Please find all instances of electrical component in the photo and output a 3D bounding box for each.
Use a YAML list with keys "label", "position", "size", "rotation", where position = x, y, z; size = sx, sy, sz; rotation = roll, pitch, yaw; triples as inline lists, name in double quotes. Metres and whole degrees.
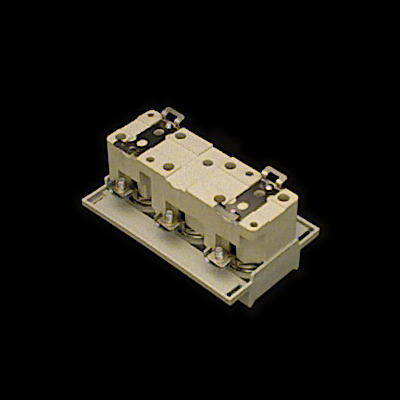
- label: "electrical component"
  position: [0.000, 0.000, 0.635]
  size: [0.120, 0.063, 0.079]
  rotation: [32, 52, 30]
